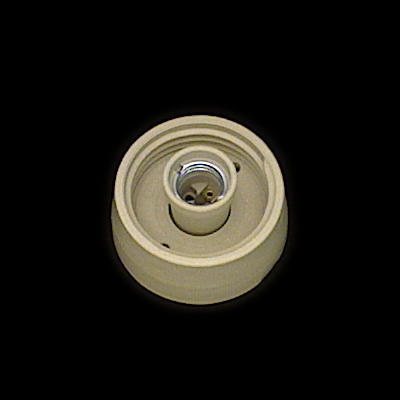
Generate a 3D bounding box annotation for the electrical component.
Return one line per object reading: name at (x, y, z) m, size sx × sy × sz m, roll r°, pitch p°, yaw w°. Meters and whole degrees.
electrical component at (0.000, 0.000, 0.633) m, size 0.108 × 0.108 × 0.060 m, roll 0°, pitch -27°, yaw 0°
